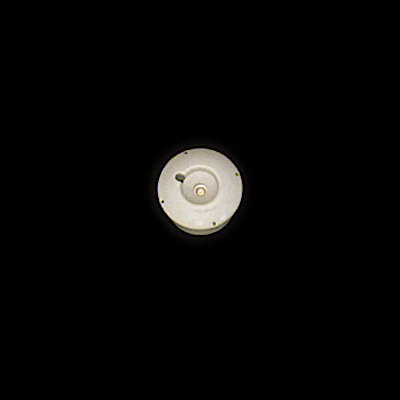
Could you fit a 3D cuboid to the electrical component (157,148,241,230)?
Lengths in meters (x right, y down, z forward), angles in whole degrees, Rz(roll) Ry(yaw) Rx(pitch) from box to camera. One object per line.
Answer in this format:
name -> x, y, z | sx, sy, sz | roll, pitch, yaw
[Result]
electrical component -> 0.000, 0.000, 0.633 | 0.048, 0.048, 0.061 | 0, -16, 1
